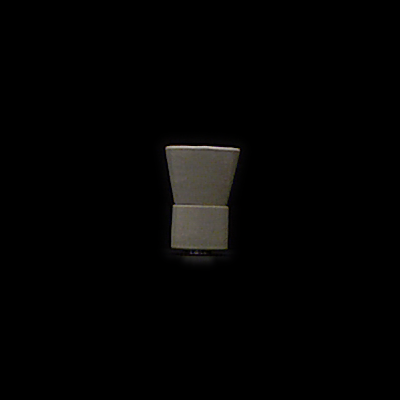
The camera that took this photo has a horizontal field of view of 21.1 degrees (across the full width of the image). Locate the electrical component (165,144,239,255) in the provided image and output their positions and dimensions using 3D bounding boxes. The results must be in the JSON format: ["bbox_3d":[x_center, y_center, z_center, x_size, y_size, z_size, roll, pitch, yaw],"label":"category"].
[{"bbox_3d":[0.000,0.000,0.649,0.044,0.065,0.044,2,2,0],"label":"electrical component"}]
